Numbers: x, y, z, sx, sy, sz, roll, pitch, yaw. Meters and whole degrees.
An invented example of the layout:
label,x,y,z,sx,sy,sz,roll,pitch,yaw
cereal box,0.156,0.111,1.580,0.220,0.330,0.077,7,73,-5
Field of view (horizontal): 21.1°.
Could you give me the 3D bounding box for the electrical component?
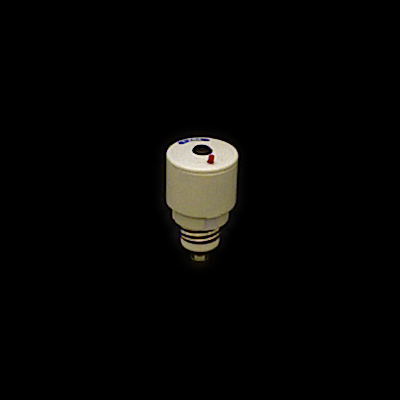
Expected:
label,x,y,z,sx,sy,sz,roll,pitch,yaw
electrical component,0.000,0.000,0.627,0.040,0.079,0.039,1,32,0
